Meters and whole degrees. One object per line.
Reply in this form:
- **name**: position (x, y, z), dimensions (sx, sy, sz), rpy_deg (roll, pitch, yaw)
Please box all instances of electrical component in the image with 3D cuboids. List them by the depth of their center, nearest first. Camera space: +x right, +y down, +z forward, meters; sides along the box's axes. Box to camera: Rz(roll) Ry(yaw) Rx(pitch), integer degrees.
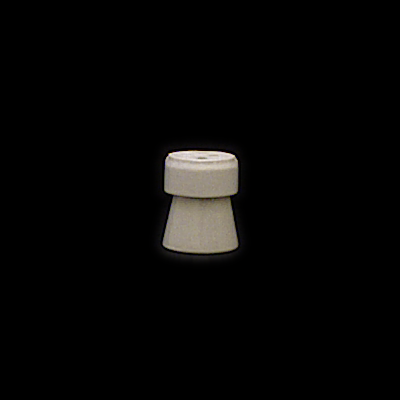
- **electrical component**: position (0.000, 0.000, 0.643), dimensions (0.045, 0.055, 0.044), rpy_deg (1, 11, 0)
